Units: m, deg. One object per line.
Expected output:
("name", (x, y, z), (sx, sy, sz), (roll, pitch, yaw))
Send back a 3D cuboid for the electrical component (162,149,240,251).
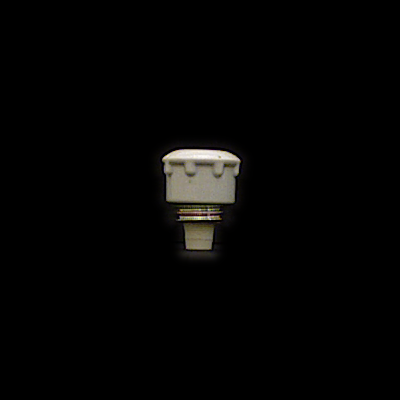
("electrical component", (0.000, 0.000, 0.659), (0.048, 0.062, 0.048), (1, 2, 0))
